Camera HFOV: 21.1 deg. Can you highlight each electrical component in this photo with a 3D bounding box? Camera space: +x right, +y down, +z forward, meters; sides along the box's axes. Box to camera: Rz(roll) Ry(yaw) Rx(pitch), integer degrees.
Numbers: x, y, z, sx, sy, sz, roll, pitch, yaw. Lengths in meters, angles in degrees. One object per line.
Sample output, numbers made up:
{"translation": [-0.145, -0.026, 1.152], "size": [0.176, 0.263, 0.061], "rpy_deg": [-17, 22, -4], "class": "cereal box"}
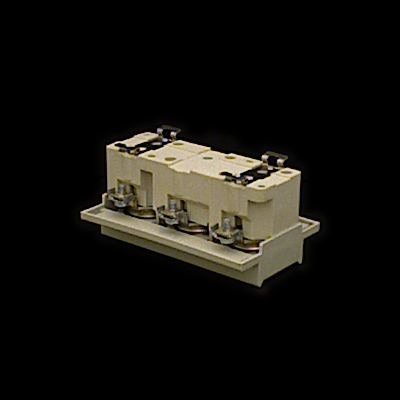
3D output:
{"translation": [0.000, 0.000, 0.643], "size": [0.120, 0.064, 0.079], "rpy_deg": [16, 27, 34], "class": "electrical component"}
